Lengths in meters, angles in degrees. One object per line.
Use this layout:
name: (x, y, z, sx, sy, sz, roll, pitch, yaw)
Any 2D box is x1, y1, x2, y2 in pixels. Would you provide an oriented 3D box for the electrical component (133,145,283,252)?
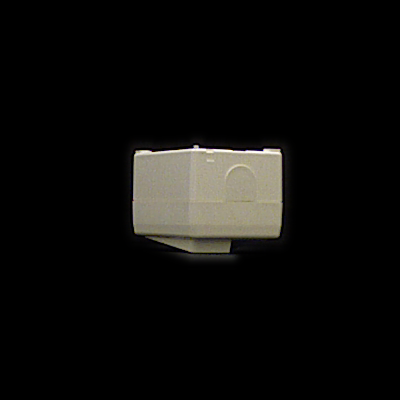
electrical component: (0.000, 0.000, 0.655, 0.062, 0.061, 0.095, 0, 1, -30)
